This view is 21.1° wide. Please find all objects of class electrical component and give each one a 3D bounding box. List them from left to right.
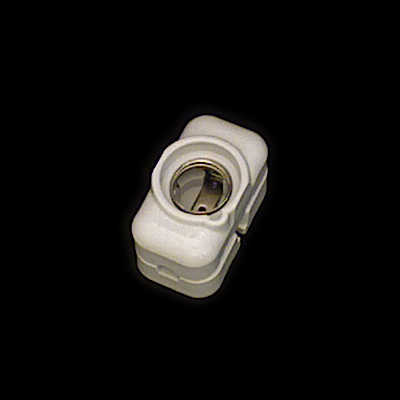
[{"bbox_3d":[0.000,0.000,0.633,0.053,0.095,0.059,22,-24,11],"label":"electrical component"}]
